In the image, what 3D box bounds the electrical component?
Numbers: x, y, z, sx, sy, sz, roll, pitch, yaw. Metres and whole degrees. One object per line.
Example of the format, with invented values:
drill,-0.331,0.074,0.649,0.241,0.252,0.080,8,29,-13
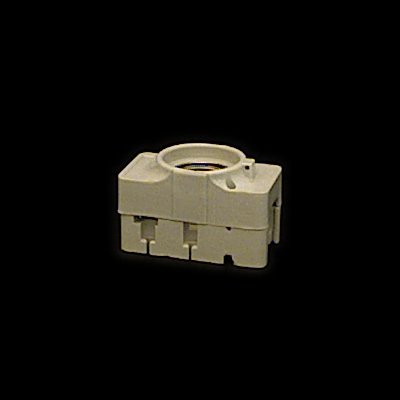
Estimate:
electrical component,0.000,0.000,0.646,0.089,0.056,0.050,6,23,13
